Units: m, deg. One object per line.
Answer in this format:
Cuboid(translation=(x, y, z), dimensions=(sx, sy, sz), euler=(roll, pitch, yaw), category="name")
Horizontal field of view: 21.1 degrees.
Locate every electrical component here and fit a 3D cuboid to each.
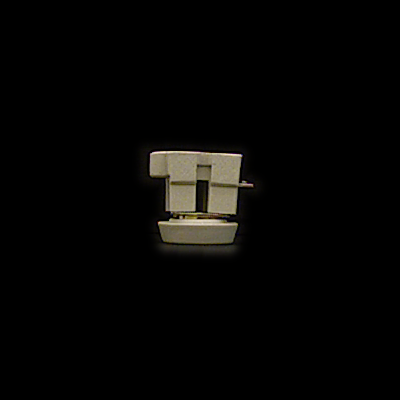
Cuboid(translation=(0.000, 0.000, 0.655), dimensions=(0.067, 0.055, 0.048), euler=(2, 0, -7), category="electrical component")
